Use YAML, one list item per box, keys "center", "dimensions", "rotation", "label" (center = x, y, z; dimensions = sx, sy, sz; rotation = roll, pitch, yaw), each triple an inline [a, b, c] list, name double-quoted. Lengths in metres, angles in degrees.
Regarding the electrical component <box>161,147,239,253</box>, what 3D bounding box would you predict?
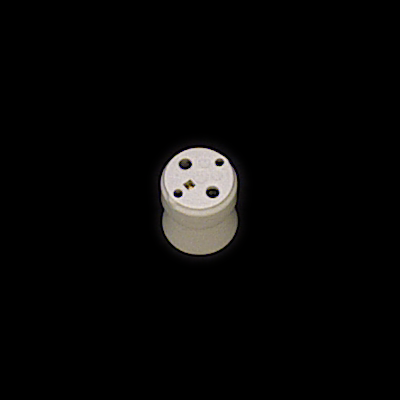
- center: [0.000, 0.000, 0.629]
  dimensions: [0.045, 0.045, 0.055]
  rotation: [0, -27, 0]
  label: "electrical component"
